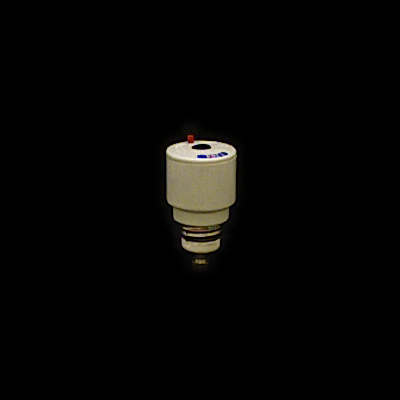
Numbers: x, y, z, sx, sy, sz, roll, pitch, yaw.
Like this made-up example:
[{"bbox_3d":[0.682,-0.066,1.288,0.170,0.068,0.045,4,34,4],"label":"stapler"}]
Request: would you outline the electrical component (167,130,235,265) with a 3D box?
[{"bbox_3d":[0.000,0.000,0.638,0.040,0.079,0.039,1,21,0],"label":"electrical component"}]
